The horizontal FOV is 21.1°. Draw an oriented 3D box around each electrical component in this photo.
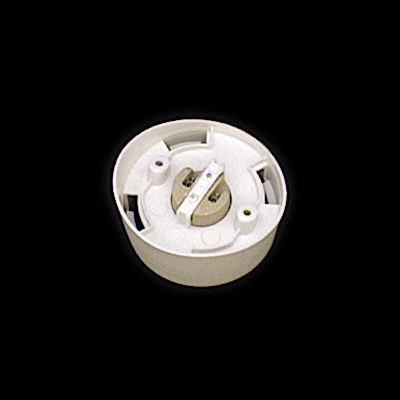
[{"bbox_3d":[0.000,0.000,0.623,0.099,0.099,0.064,0,-27,0],"label":"electrical component"}]
